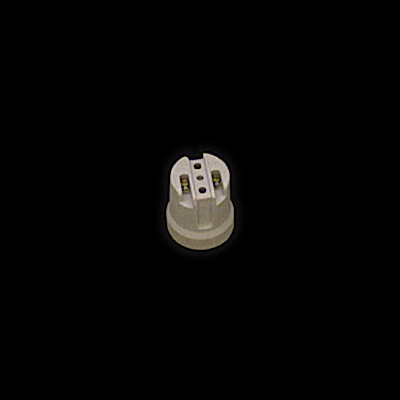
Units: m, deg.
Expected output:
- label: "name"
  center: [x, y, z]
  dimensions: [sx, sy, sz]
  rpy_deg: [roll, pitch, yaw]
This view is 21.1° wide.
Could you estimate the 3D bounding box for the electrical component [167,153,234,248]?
- label: "electrical component"
  center: [0.000, 0.000, 0.633]
  dimensions: [0.040, 0.040, 0.046]
  rpy_deg: [0, -38, 0]
